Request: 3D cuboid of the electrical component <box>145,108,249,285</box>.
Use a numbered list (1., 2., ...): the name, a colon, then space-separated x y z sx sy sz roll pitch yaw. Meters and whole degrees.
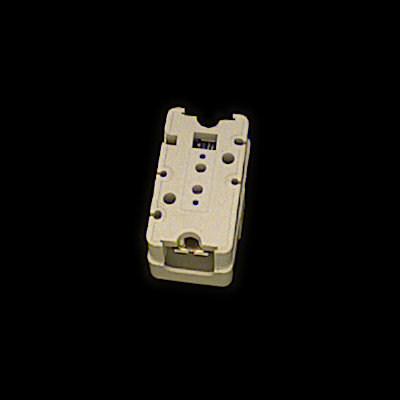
1. electrical component: 0.000 0.000 0.636 0.050 0.090 0.055 6 -27 4
